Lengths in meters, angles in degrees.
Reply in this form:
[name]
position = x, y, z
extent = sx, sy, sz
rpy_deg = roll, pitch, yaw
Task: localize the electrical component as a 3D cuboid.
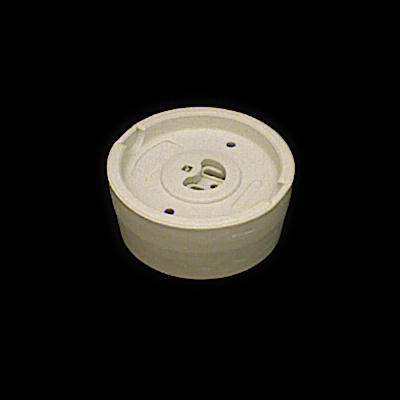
[electrical component]
position = 0.000, 0.000, 0.637
extent = 0.108, 0.061, 0.107
rpy_deg = 1, 43, 0
